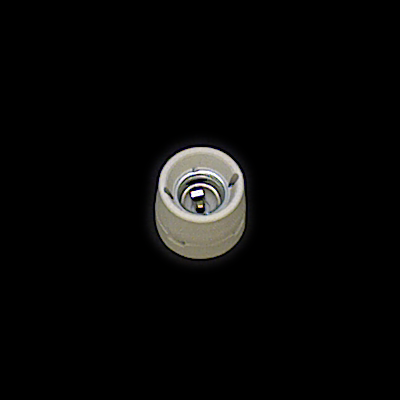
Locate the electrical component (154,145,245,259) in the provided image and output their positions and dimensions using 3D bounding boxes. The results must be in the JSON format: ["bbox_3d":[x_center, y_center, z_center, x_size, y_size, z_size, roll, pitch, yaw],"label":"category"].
[{"bbox_3d":[0.000,0.000,0.633,0.055,0.055,0.047,0,-27,-1],"label":"electrical component"}]
